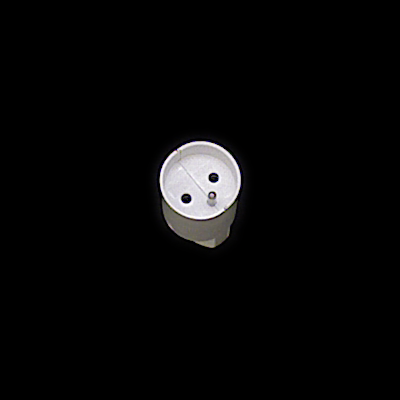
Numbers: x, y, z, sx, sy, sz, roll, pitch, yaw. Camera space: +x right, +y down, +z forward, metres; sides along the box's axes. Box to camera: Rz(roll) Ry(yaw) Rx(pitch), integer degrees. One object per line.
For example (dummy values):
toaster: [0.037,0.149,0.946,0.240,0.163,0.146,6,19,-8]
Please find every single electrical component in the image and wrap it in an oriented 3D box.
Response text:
electrical component: [0.000,0.000,0.615,0.043,0.043,0.080,0,-16,0]
